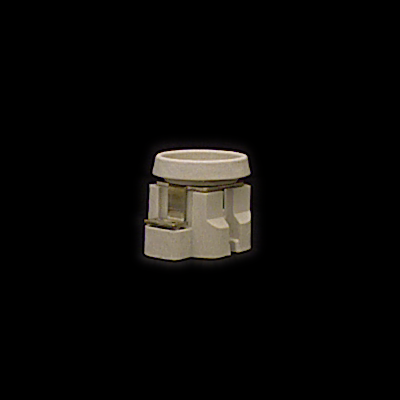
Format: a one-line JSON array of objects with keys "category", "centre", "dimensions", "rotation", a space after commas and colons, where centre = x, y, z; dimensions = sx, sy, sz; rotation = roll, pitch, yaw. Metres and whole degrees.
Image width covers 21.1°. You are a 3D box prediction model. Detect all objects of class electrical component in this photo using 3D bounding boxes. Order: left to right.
[{"category": "electrical component", "centre": [0.000, 0.000, 0.642], "dimensions": [0.057, 0.057, 0.078], "rotation": [9, 13, 36]}]
